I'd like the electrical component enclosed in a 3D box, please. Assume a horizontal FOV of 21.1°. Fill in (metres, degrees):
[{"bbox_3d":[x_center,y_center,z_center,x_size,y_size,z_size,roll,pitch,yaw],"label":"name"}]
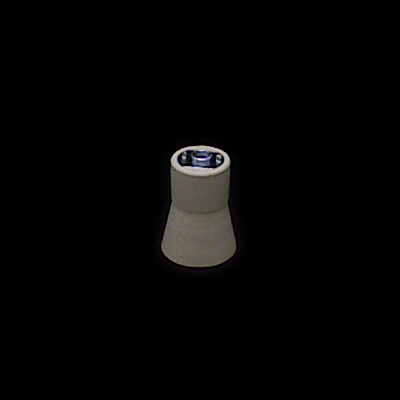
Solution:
[{"bbox_3d":[0.000,0.000,0.632,0.044,0.066,0.044,1,33,0],"label":"electrical component"}]
